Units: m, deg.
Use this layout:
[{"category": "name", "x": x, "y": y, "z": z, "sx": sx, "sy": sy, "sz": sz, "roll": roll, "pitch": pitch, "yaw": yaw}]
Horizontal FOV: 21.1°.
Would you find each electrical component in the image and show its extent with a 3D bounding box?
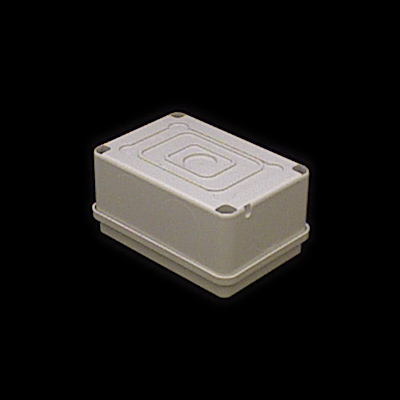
[{"category": "electrical component", "x": 0.000, "y": 0.000, "z": 0.635, "sx": 0.112, "sy": 0.058, "sz": 0.078, "roll": 26, "pitch": 39, "yaw": 36}]
